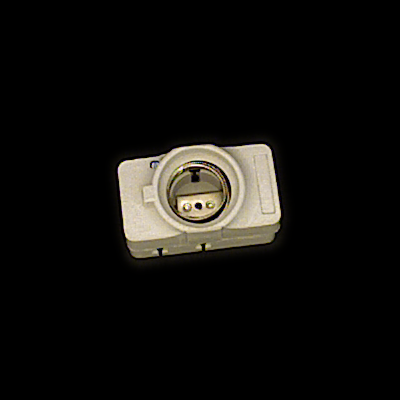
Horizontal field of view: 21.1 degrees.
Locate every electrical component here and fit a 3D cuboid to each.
[{"bbox_3d":[0.000,0.000,0.636,0.090,0.050,0.055,-7,-16,-2],"label":"electrical component"}]
